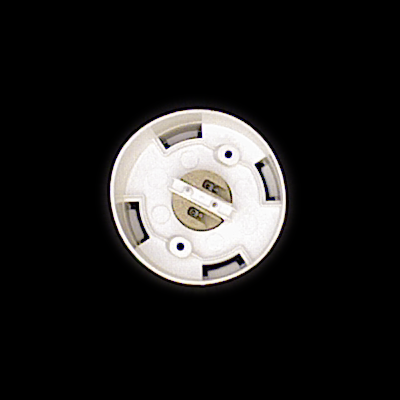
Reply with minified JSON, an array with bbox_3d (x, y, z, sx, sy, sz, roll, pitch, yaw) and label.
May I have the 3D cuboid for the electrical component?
[{"bbox_3d":[0.000,0.000,0.624,0.099,0.099,0.064,0,-7,1],"label":"electrical component"}]
